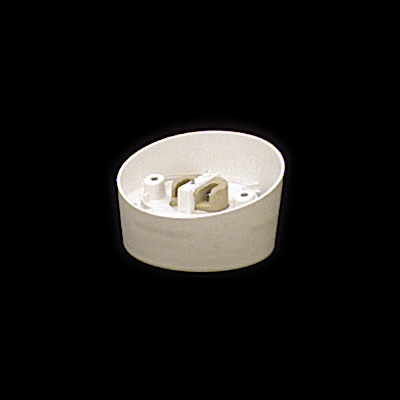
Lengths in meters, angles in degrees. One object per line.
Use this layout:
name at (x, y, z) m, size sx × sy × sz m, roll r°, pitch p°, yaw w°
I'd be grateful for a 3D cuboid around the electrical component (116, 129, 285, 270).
electrical component at (0.000, 0.000, 0.639) m, size 0.099 × 0.065 × 0.097 m, roll 1°, pitch 20°, yaw 0°
